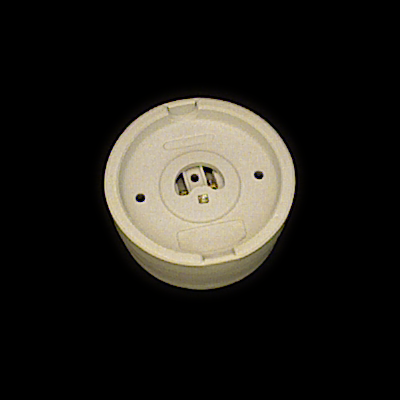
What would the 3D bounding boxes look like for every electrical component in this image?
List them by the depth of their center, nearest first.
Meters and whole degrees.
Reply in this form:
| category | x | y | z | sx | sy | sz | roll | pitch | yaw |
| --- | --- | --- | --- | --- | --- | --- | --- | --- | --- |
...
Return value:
| category | x | y | z | sx | sy | sz | roll | pitch | yaw |
| --- | --- | --- | --- | --- | --- | --- | --- | --- | --- |
| electrical component | 0.000 | 0.000 | 0.632 | 0.108 | 0.108 | 0.060 | 0 | -27 | 0 |
